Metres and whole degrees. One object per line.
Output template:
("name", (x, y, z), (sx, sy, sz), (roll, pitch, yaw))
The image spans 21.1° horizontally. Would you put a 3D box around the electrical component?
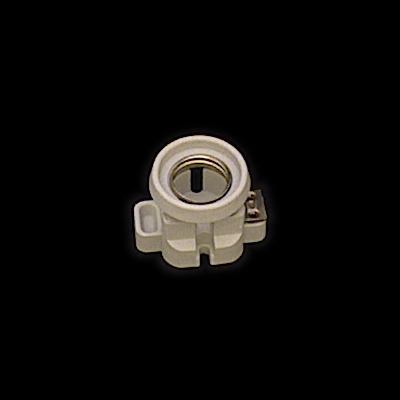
("electrical component", (0.000, 0.000, 0.630), (0.078, 0.057, 0.057), (-5, -37, -5))
